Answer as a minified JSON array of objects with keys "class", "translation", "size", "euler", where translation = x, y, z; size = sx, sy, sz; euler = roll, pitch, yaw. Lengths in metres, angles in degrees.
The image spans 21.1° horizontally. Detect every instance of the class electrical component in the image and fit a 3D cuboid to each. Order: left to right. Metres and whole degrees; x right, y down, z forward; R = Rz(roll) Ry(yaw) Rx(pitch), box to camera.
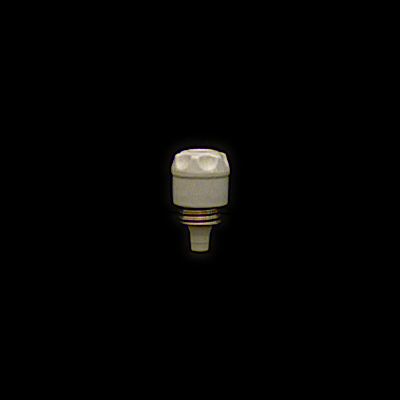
[{"class":"electrical component","translation":[0.000,0.000,0.651],"size":[0.035,0.062,0.035],"euler":[1,12,0]}]
